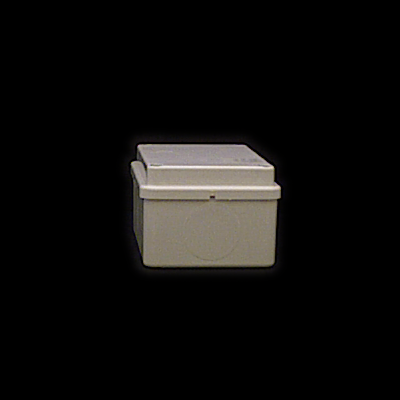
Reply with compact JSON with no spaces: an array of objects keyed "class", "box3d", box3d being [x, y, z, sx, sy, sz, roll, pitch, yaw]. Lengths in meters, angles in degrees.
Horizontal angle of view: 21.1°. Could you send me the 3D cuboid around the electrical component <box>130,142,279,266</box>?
[{"class":"electrical component","box3d":[0.000,0.000,0.644,0.078,0.057,0.112,0,10,-7]}]
